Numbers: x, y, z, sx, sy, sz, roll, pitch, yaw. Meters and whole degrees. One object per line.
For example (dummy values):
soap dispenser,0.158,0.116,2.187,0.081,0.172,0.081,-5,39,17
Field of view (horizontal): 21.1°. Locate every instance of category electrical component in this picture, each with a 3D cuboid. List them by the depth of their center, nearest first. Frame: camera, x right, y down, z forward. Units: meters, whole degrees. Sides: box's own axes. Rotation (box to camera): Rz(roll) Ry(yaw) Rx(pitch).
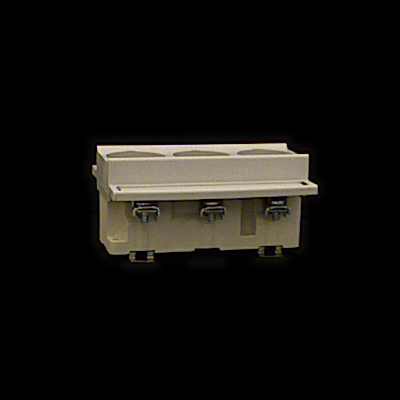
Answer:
electrical component,0.000,0.000,0.656,0.121,0.063,0.078,-2,13,-14
